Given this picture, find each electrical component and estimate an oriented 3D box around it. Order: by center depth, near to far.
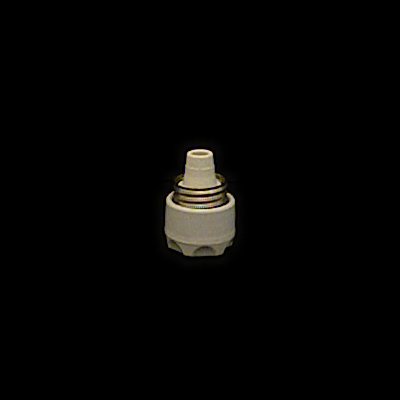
[{"bbox_3d":[0.000,0.000,0.647,0.043,0.063,0.043,1,21,0],"label":"electrical component"}]
